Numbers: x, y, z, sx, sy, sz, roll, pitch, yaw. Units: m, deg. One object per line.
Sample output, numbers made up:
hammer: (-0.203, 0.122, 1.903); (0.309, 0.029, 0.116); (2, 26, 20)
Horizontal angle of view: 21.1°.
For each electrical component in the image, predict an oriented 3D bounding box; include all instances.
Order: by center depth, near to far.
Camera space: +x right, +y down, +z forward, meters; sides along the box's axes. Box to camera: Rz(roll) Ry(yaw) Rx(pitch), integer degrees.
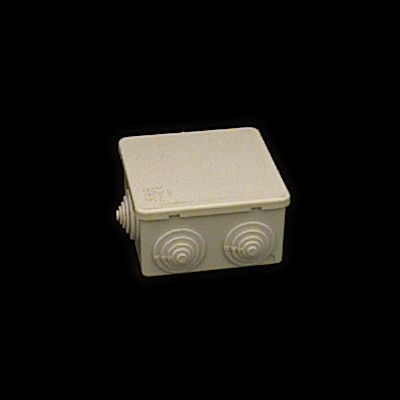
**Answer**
electrical component: (0.000, 0.000, 0.643); (0.100, 0.049, 0.098); (-5, 33, -10)
